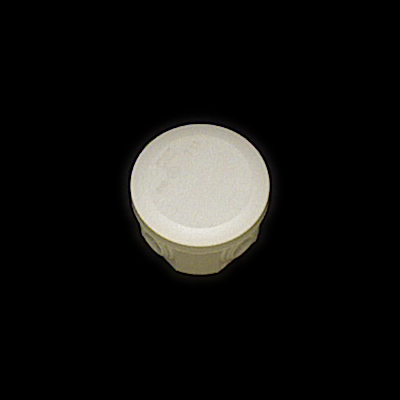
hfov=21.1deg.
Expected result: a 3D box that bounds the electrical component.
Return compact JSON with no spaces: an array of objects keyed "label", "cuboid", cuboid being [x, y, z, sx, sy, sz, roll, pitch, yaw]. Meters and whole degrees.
[{"label":"electrical component","cuboid":[0.000,0.000,0.631,0.080,0.080,0.050,0,-27,-1]}]
